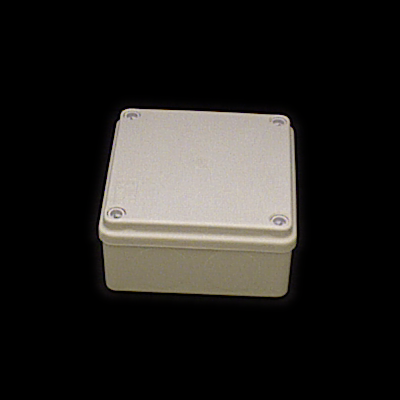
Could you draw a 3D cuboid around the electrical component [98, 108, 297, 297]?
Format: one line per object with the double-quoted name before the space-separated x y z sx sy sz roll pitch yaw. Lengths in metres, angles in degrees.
"electrical component" 0.000 0.000 0.633 0.109 0.057 0.107 3 42 1
